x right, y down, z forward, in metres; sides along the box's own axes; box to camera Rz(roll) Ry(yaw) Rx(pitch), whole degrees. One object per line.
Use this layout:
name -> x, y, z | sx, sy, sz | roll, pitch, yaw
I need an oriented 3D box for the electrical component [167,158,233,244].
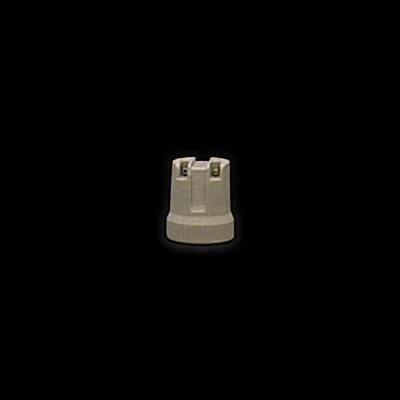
electrical component -> 0.000, 0.000, 0.645 | 0.040, 0.046, 0.040 | 1, 11, 0
